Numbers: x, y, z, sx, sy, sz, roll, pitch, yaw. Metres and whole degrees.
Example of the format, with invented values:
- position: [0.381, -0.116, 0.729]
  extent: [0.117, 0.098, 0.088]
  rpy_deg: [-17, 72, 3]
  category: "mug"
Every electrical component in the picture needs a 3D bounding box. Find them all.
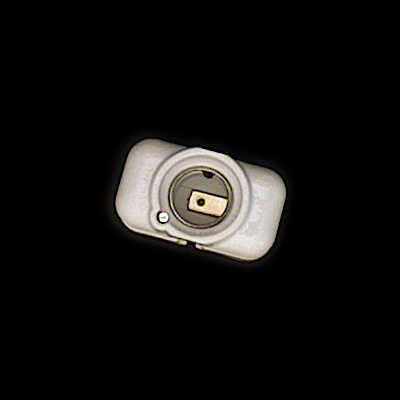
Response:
- position: [0.000, 0.000, 0.635]
  extent: [0.095, 0.054, 0.059]
  rpy_deg: [14, -5, 2]
  category: "electrical component"
